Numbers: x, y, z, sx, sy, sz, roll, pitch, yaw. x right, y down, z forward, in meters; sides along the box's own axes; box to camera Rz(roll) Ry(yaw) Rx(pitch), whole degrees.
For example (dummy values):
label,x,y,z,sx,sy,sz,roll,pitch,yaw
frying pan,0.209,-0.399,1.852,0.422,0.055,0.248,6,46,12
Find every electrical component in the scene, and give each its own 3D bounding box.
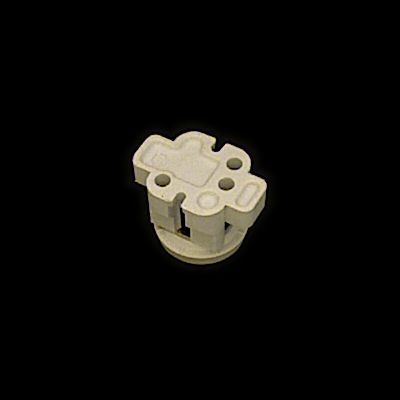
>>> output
label,x,y,z,sx,sy,sz,roll,pitch,yaw
electrical component,0.000,0.000,0.636,0.078,0.058,0.057,22,-33,17
